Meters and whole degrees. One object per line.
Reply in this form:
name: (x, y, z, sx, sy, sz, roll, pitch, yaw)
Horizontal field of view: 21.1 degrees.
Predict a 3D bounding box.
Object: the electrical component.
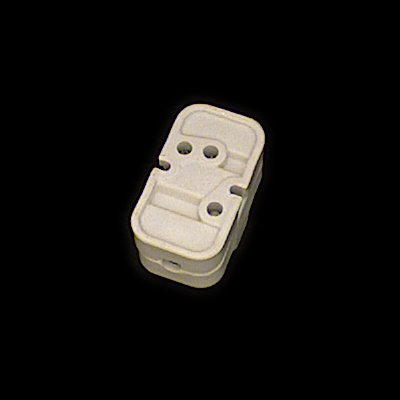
electrical component: (0.000, 0.000, 0.634, 0.053, 0.095, 0.059, 19, -25, 9)
